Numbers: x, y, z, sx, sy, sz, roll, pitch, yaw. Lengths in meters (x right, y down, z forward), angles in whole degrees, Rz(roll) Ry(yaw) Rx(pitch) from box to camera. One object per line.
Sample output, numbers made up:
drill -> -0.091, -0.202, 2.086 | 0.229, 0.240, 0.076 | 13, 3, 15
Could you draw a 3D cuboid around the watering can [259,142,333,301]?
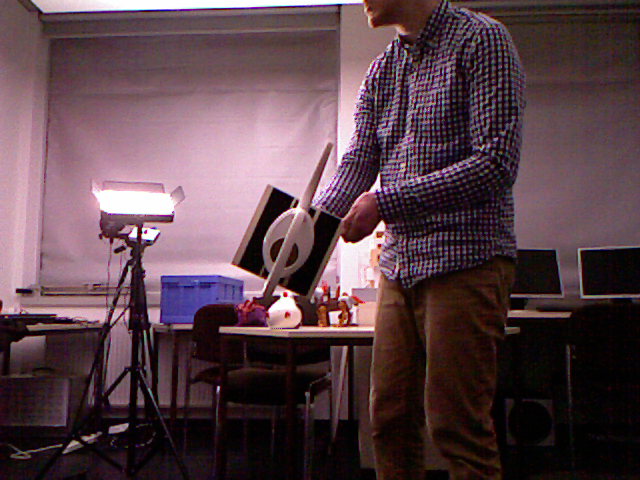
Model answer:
watering can -> -0.044, -0.036, 1.095 | 0.104, 0.348, 0.225 | 24, 2, -1
